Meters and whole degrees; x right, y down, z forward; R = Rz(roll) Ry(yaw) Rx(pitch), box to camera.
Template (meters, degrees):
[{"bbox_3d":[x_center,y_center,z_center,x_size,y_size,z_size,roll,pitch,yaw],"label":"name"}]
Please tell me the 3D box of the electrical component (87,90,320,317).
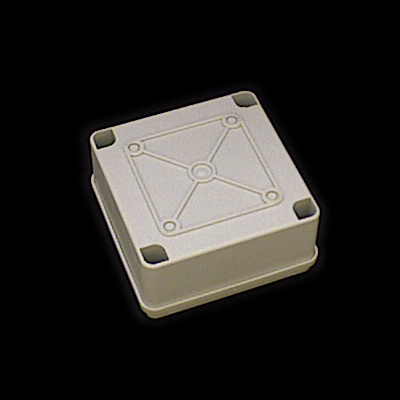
[{"bbox_3d":[0.000,0.000,0.631,0.109,0.108,0.056,-16,-36,-13],"label":"electrical component"}]
